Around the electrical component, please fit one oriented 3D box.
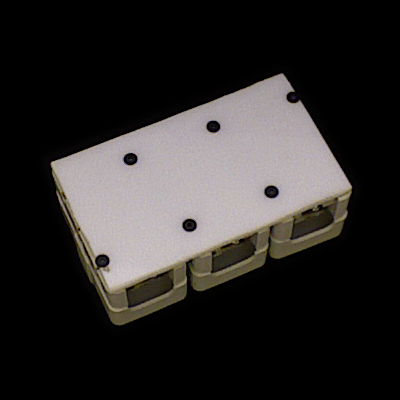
[{"bbox_3d":[0.000,0.000,0.633,0.150,0.089,0.062,-22,-25,-11],"label":"electrical component"}]
